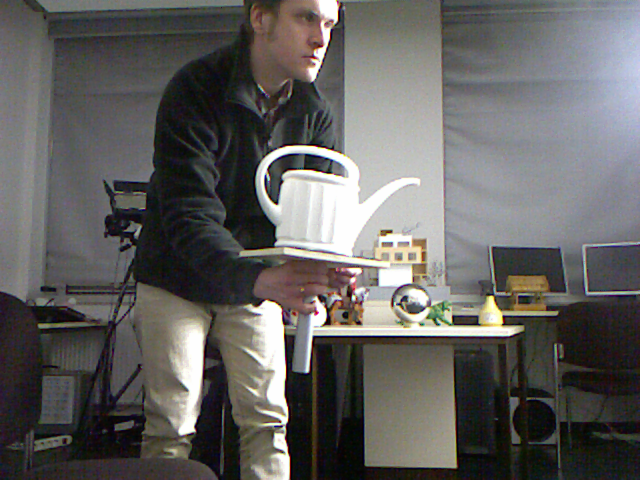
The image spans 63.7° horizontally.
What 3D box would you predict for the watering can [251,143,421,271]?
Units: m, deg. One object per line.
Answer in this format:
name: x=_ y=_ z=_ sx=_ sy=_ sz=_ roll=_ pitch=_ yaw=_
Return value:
watering can: x=0.035 y=-0.054 z=0.945 sx=0.347 sy=0.225 sz=0.104 roll=9 pitch=-2 yaw=-26
